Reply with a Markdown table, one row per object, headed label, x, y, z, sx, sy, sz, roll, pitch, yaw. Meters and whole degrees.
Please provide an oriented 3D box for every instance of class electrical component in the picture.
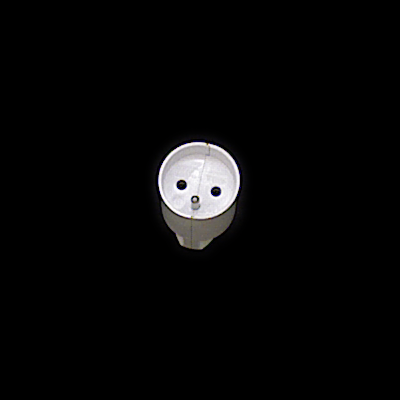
| label | x | y | z | sx | sy | sz | roll | pitch | yaw |
| --- | --- | --- | --- | --- | --- | --- | --- | --- | --- |
| electrical component | 0.000 | 0.000 | 0.614 | 0.043 | 0.043 | 0.080 | 0 | -16 | 1 |
